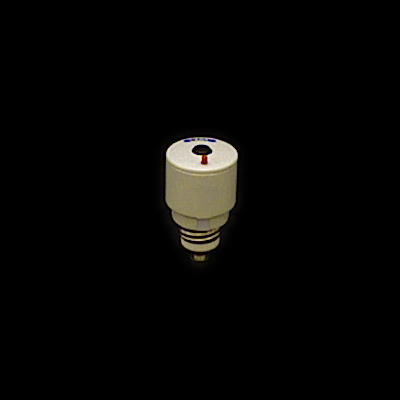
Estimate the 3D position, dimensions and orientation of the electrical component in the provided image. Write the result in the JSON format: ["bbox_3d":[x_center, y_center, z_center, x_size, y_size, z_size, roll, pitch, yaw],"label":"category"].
[{"bbox_3d":[0.000,0.000,0.627,0.040,0.079,0.039,1,32,0],"label":"electrical component"}]
